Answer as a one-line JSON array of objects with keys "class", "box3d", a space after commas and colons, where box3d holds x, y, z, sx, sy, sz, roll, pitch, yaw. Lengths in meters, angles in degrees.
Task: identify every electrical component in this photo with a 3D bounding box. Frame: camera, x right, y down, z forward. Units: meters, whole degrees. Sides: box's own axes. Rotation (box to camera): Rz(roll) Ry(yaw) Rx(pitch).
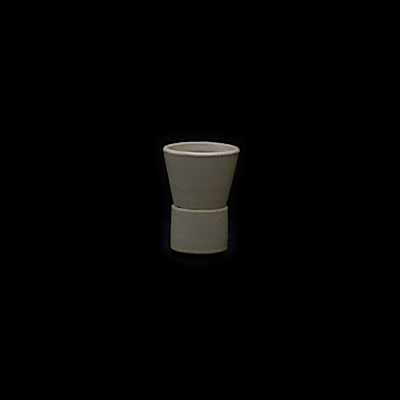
[{"class": "electrical component", "box3d": [0.000, 0.000, 0.642, 0.044, 0.066, 0.044, 2, 12, 0]}]
